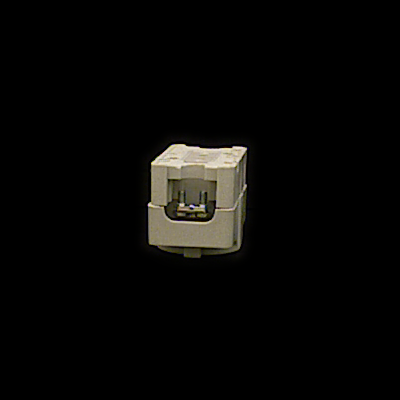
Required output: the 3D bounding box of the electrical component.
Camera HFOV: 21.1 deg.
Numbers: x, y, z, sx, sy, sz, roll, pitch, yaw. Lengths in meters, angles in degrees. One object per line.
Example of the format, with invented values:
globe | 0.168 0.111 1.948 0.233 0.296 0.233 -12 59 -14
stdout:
electrical component | 0.000 0.000 0.651 0.050 0.056 0.089 3 12 6
